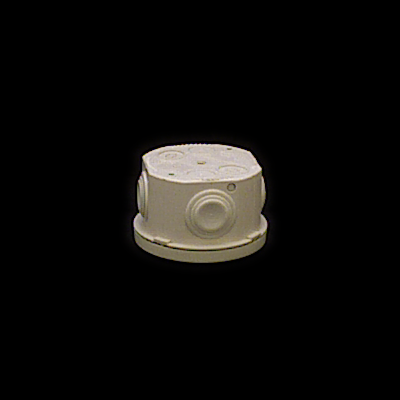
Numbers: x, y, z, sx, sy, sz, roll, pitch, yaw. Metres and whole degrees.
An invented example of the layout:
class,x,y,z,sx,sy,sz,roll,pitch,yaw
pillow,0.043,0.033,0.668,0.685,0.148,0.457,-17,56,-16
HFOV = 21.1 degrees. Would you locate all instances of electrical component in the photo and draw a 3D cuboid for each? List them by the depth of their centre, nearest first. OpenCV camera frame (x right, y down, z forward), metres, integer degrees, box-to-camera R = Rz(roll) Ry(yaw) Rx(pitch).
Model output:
class,x,y,z,sx,sy,sz,roll,pitch,yaw
electrical component,0.000,0.000,0.639,0.080,0.051,0.079,1,22,0
